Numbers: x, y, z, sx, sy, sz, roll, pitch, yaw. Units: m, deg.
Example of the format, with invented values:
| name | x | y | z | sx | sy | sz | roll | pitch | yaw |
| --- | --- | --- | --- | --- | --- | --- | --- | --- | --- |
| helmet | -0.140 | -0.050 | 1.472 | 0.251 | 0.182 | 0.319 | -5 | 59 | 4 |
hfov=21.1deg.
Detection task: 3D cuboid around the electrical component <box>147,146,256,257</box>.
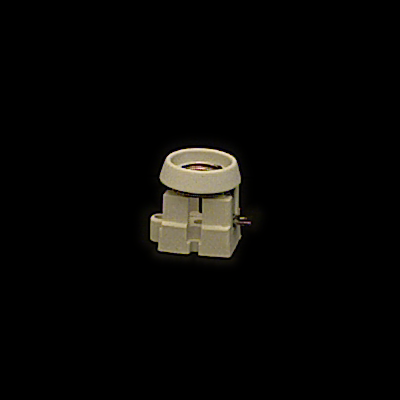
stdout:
| name | x | y | z | sx | sy | sz | roll | pitch | yaw |
| --- | --- | --- | --- | --- | --- | --- | --- | --- | --- |
| electrical component | 0.000 | 0.000 | 0.648 | 0.066 | 0.056 | 0.048 | 5 | 24 | 9 |
